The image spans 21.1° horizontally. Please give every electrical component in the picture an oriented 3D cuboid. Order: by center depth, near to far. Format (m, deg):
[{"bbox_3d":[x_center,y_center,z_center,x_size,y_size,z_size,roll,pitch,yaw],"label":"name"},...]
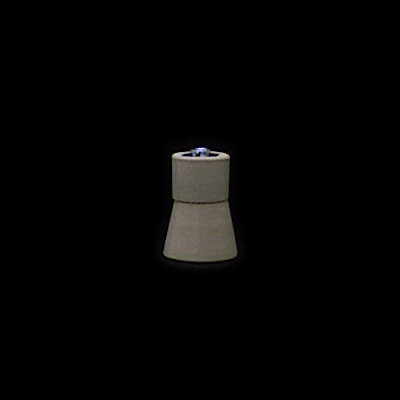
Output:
[{"bbox_3d":[0.000,0.000,0.645,0.044,0.066,0.044,0,11,0],"label":"electrical component"}]
